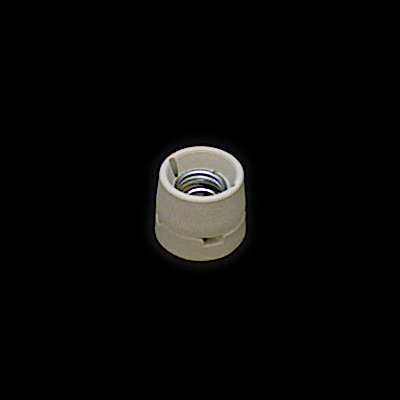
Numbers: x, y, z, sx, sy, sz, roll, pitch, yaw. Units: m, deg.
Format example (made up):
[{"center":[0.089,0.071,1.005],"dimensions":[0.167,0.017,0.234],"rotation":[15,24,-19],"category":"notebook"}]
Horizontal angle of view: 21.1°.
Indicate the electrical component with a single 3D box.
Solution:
[{"center":[0.000,0.000,0.635],"dimensions":[0.055,0.047,0.055],"rotation":[1,43,-1],"category":"electrical component"}]
